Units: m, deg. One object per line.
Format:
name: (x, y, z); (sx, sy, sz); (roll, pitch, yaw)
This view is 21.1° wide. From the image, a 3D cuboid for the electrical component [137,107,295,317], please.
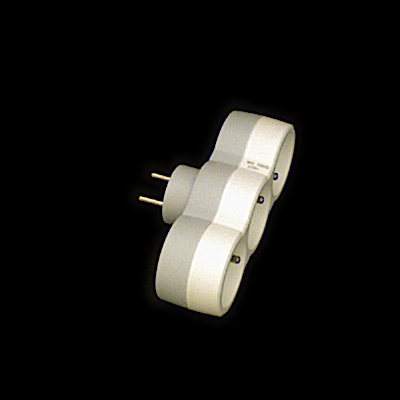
electrical component: (0.000, 0.000, 0.640); (0.073, 0.138, 0.052); (17, -35, 14)
